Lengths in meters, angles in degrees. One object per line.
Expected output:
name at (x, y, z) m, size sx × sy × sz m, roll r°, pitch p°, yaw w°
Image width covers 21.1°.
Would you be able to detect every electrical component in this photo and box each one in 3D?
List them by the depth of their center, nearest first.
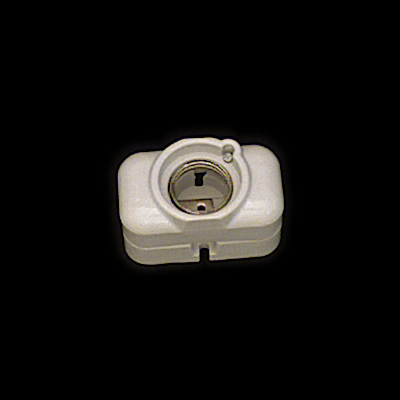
electrical component at (0.000, 0.000, 0.635) m, size 0.095 × 0.053 × 0.059 m, roll -4°, pitch -26°, yaw -3°
